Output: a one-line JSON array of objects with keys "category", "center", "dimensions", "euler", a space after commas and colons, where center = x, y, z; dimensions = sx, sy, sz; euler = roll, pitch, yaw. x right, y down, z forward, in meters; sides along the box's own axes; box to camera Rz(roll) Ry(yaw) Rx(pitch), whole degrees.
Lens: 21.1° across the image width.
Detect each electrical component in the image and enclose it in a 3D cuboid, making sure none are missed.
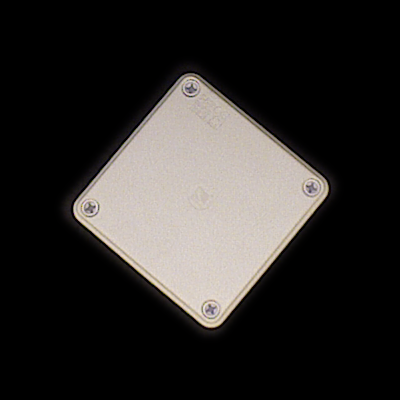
[{"category": "electrical component", "center": [0.000, 0.000, 0.630], "dimensions": [0.109, 0.109, 0.056], "euler": [40, -4, 4]}]
